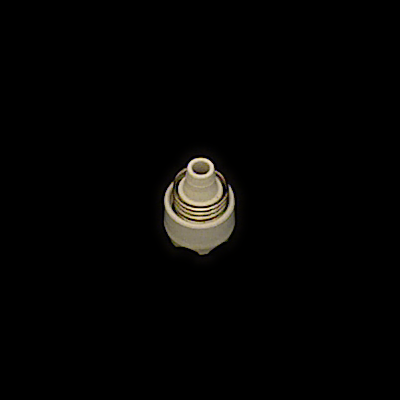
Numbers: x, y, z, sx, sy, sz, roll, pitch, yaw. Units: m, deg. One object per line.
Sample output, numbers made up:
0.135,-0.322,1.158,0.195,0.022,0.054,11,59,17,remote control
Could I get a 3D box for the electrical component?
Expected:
0.000,0.000,0.636,0.043,0.043,0.062,0,-38,-2,electrical component
